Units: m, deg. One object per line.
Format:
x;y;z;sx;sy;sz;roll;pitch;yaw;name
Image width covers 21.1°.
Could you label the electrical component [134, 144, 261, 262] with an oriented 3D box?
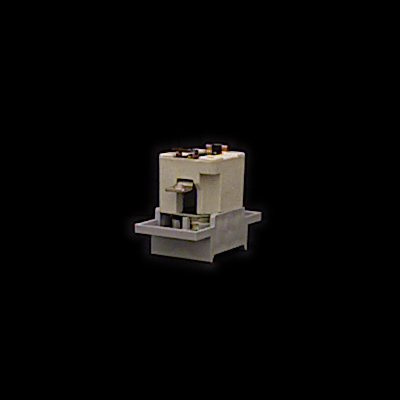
0.000;0.000;0.645;0.042;0.064;0.080;7;12;29;electrical component
